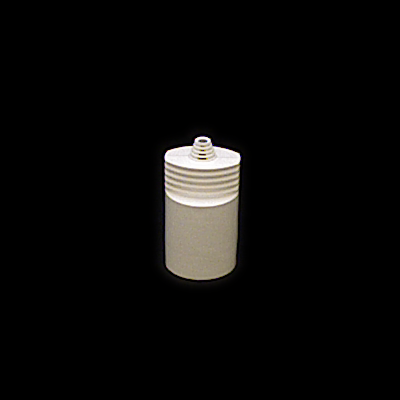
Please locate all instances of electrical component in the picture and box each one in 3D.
[{"bbox_3d":[0.000,0.000,0.629,0.043,0.082,0.042,1,31,0],"label":"electrical component"}]
